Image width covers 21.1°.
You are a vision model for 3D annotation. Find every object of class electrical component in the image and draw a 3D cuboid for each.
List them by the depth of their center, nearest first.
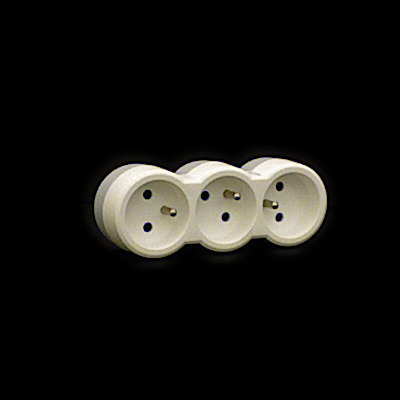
[{"bbox_3d":[0.000,0.000,0.655,0.139,0.052,0.072,-4,11,-25],"label":"electrical component"}]
